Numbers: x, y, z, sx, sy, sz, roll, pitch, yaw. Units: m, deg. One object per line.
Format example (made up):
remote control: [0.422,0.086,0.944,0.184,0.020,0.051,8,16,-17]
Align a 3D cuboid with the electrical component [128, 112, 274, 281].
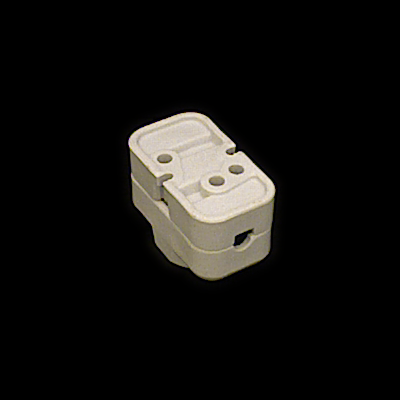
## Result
electrical component: [0.000,0.000,0.640,0.054,0.060,0.094,-23,47,-23]
